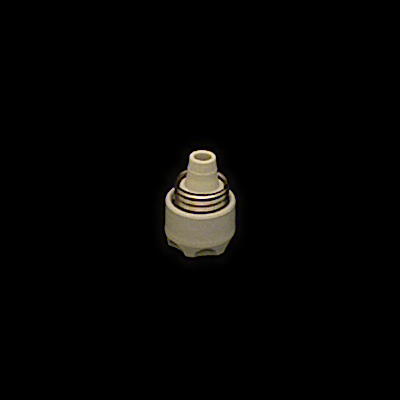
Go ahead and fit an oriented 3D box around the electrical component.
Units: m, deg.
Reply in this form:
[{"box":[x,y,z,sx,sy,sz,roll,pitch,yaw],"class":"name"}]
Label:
[{"box":[0.000,0.000,0.641,0.043,0.063,0.043,2,32,-1],"class":"electrical component"}]
